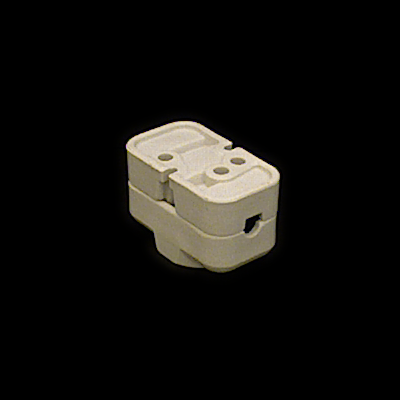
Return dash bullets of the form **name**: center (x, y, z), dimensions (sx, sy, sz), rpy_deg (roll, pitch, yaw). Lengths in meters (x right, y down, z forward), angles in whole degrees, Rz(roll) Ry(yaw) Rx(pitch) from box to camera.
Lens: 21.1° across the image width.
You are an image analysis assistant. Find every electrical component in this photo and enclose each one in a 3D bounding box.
- **electrical component**: center (0.000, 0.000, 0.644), dimensions (0.054, 0.060, 0.093), rpy_deg (-23, 39, -33)
